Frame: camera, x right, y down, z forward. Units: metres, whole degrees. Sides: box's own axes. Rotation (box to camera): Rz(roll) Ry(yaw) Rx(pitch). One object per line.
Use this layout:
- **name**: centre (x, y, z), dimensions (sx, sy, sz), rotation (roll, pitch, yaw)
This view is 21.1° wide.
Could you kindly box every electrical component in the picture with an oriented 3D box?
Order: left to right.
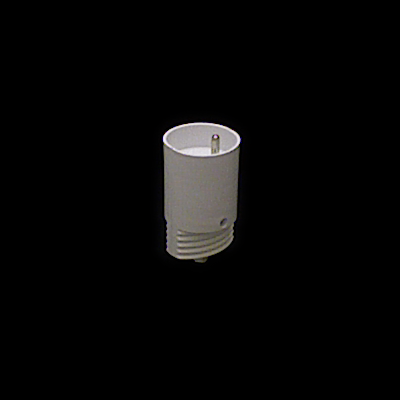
- **electrical component**: centre (0.000, 0.000, 0.630), dimensions (0.043, 0.082, 0.042), rotation (2, 31, -1)
